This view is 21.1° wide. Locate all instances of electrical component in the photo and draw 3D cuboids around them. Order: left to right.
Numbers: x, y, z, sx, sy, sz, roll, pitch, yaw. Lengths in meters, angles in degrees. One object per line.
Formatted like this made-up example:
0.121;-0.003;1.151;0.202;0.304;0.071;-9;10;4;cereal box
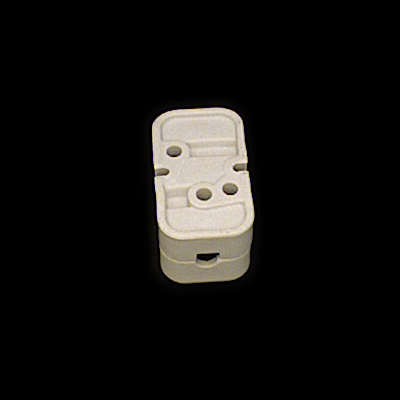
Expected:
0.000;0.000;0.637;0.054;0.094;0.059;-3;-37;-3;electrical component
